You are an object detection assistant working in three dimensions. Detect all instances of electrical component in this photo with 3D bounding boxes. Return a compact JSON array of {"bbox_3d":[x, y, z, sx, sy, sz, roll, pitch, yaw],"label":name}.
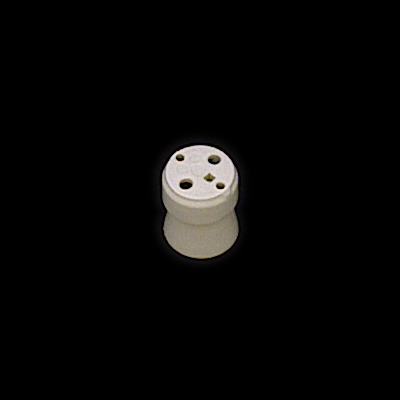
[{"bbox_3d":[0.000,0.000,0.629,0.045,0.044,0.055,0,-37,0],"label":"electrical component"}]
